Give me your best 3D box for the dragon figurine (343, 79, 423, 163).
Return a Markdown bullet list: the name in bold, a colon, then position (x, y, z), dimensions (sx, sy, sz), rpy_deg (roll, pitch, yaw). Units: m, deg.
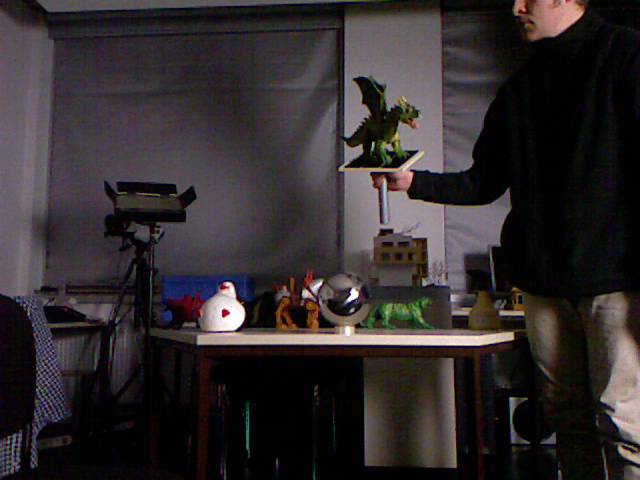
- **dragon figurine**: position (0.159, -0.366, 1.557), dimensions (0.123, 0.239, 0.415), rpy_deg (-24, 28, -25)
